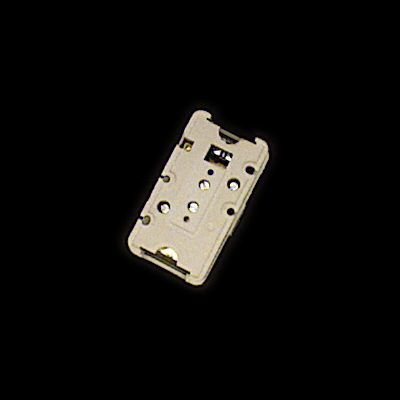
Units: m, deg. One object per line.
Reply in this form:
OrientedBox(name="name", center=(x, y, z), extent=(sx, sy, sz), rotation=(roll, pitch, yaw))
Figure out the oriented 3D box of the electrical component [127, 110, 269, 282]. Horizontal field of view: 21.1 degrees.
OrientedBox(name="electrical component", center=(0.000, 0.000, 0.637), extent=(0.050, 0.090, 0.055), rotation=(27, -6, 4))
